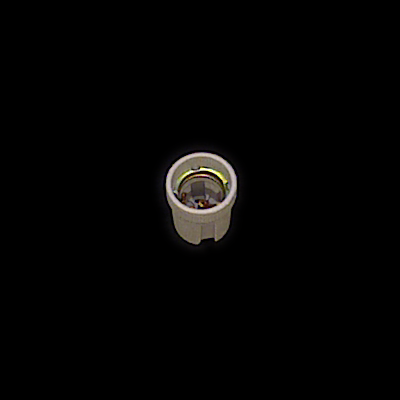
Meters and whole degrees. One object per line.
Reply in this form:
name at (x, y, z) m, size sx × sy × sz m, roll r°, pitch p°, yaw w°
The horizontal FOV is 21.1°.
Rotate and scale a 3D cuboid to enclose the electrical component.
electrical component at (0.000, 0.000, 0.629) m, size 0.040 × 0.040 × 0.046 m, roll 0°, pitch -28°, yaw 0°
